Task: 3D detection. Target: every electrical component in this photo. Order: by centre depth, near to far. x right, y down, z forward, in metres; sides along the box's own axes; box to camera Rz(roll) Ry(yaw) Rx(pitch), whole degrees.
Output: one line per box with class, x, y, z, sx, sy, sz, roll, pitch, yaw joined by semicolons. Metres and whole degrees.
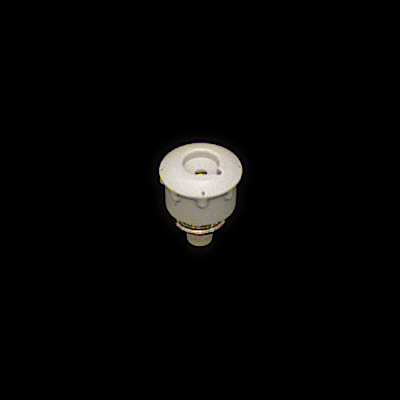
electrical component;0.000;0.000;0.639;0.048;0.062;0.047;1;43;0
